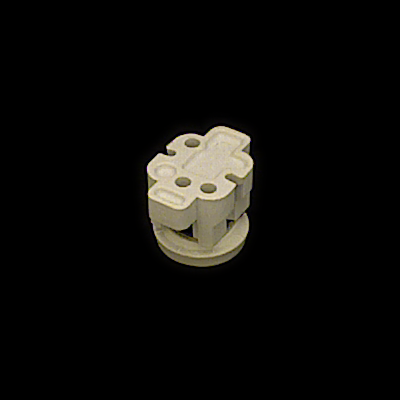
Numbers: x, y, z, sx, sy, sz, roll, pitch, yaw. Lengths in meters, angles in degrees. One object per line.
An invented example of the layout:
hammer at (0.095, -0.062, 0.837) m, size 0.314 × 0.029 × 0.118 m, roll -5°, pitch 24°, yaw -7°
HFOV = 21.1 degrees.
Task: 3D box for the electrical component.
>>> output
electrical component at (0.000, 0.000, 0.640) m, size 0.057 × 0.057 × 0.078 m, roll 22°, pitch 45°, yaw 23°
